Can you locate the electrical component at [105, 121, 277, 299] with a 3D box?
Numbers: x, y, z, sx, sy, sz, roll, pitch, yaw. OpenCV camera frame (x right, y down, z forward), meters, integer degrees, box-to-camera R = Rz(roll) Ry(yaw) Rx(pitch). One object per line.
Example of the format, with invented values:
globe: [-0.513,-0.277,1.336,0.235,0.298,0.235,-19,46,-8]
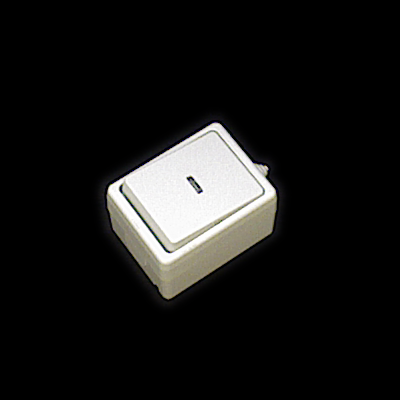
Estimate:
electrical component: [0.000,0.000,0.626,0.096,0.062,0.061,-32,-23,-15]
